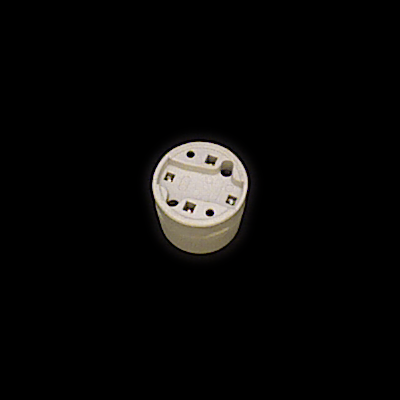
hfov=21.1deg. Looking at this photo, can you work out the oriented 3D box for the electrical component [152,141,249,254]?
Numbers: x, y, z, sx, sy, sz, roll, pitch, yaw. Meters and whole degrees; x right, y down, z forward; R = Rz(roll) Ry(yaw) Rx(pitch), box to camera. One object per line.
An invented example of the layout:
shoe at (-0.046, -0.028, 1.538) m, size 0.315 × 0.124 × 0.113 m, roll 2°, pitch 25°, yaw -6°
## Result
electrical component at (0.000, 0.000, 0.634) m, size 0.055 × 0.056 × 0.047 m, roll 0°, pitch -27°, yaw 0°
